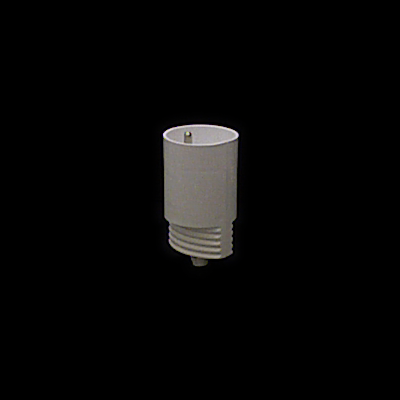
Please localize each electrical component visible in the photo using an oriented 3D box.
[{"bbox_3d":[0.000,0.000,0.634,0.043,0.082,0.042,1,20,0],"label":"electrical component"}]
